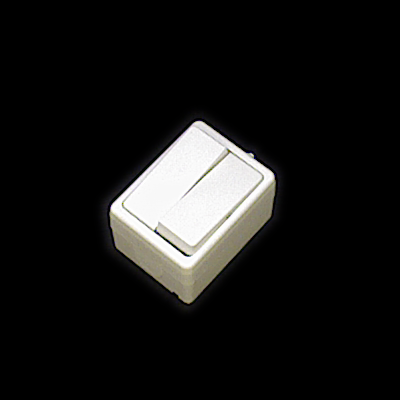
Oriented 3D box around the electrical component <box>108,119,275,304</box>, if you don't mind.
[{"bbox_3d":[0.000,0.000,0.627,0.062,0.096,0.061,37,-22,18],"label":"electrical component"}]
